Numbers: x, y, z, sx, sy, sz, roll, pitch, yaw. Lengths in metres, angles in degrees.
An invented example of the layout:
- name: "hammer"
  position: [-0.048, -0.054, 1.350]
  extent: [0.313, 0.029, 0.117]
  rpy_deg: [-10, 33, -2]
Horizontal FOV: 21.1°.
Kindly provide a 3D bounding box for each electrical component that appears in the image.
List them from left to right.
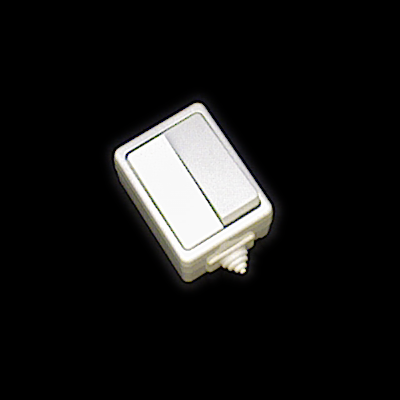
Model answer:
- name: "electrical component"
  position: [0.000, 0.000, 0.625]
  extent: [0.062, 0.096, 0.060]
  rpy_deg: [-31, -15, -9]
